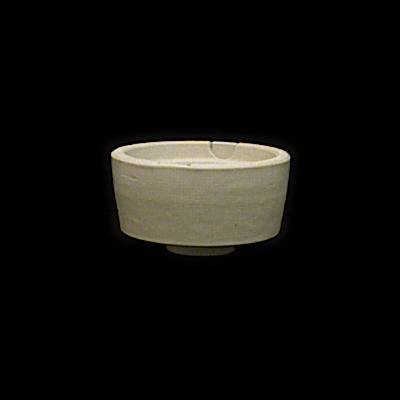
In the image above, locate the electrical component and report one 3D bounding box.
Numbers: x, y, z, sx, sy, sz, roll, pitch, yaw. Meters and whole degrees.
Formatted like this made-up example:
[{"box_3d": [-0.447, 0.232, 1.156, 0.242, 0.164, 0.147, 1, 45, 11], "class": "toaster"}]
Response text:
[{"box_3d": [0.000, 0.000, 0.654, 0.108, 0.061, 0.107, 1, 11, 0], "class": "electrical component"}]
